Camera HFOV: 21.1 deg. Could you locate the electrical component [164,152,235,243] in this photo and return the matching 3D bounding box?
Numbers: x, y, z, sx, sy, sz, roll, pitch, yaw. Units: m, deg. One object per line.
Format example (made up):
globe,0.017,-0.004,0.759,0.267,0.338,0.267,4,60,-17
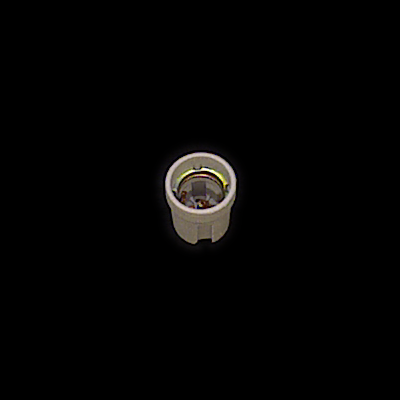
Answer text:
electrical component,0.000,0.000,0.629,0.040,0.040,0.046,0,-28,0
